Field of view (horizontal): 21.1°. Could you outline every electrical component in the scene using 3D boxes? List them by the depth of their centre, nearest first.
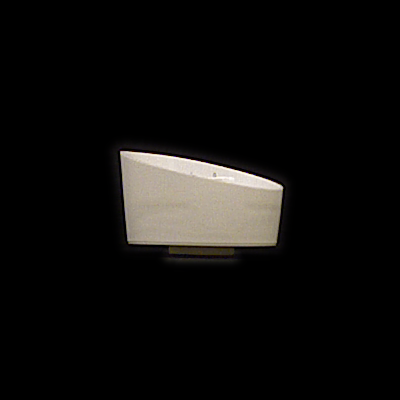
[{"bbox_3d":[0.000,0.000,0.649,0.099,0.064,0.099,0,0,0],"label":"electrical component"}]
